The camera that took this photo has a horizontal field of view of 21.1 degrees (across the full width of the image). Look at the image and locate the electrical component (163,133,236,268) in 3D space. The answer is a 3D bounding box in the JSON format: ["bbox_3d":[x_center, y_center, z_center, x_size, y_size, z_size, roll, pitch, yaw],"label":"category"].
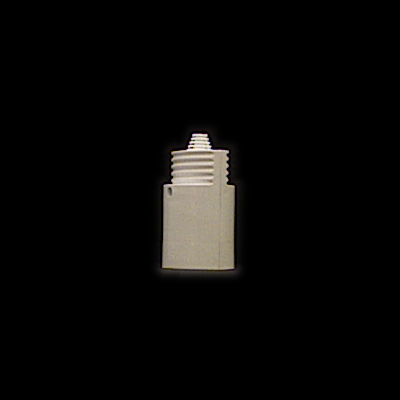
[{"bbox_3d":[0.000,0.000,0.650,0.043,0.081,0.043,1,1,0],"label":"electrical component"}]
